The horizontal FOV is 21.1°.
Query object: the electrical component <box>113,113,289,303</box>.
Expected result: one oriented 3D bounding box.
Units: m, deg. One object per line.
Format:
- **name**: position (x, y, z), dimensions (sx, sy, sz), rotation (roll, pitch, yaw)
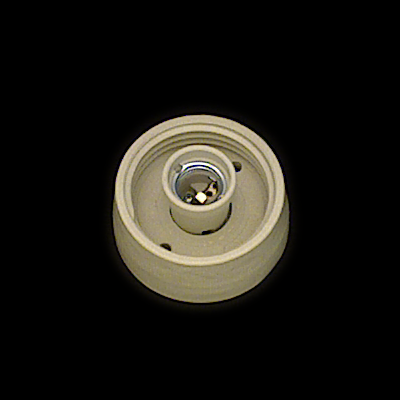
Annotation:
- **electrical component**: position (0.000, 0.000, 0.633), dimensions (0.108, 0.108, 0.060), rotation (0, -26, 0)
